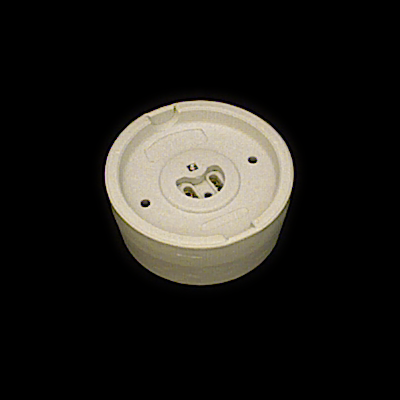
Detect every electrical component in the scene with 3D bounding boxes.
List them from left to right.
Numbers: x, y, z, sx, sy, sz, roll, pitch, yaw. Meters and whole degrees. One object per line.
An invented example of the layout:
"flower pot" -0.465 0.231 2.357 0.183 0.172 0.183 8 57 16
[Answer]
"electrical component" 0.000 0.000 0.636 0.108 0.107 0.060 0 -37 -1
